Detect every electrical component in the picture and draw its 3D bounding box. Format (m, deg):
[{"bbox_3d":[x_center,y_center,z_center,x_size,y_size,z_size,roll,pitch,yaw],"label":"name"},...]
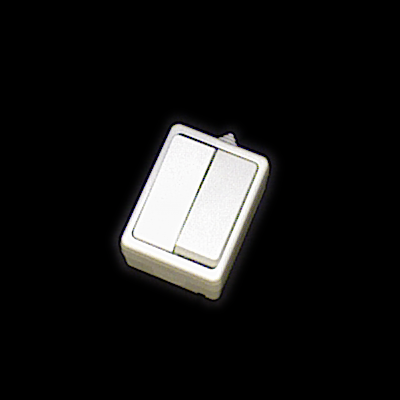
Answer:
[{"bbox_3d":[0.000,0.000,0.627,0.062,0.096,0.060,22,-16,6],"label":"electrical component"}]
